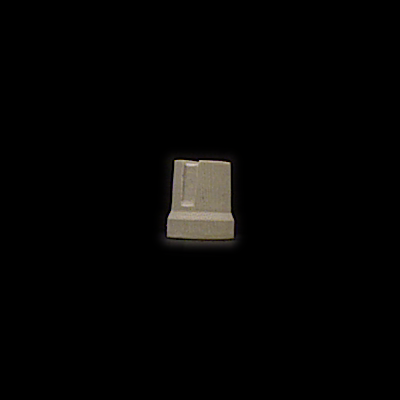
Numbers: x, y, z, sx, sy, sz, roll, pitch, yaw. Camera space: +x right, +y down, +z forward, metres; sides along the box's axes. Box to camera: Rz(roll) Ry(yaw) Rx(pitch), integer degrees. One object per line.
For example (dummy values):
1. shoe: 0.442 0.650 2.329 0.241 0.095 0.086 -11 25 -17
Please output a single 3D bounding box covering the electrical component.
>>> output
1. electrical component: 0.000 0.000 0.651 0.040 0.046 0.040 2 2 0
